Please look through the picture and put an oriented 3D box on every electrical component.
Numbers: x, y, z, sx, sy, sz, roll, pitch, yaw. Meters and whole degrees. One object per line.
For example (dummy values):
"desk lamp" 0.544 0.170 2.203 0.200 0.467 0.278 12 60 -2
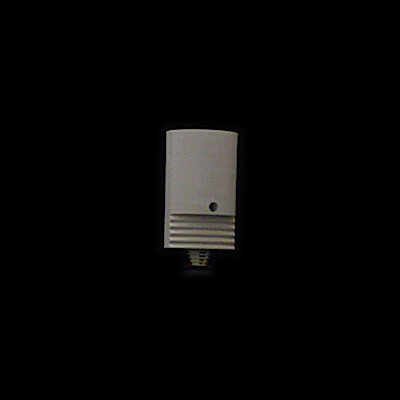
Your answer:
"electrical component" 0.000 0.000 0.652 0.043 0.081 0.043 2 1 0
